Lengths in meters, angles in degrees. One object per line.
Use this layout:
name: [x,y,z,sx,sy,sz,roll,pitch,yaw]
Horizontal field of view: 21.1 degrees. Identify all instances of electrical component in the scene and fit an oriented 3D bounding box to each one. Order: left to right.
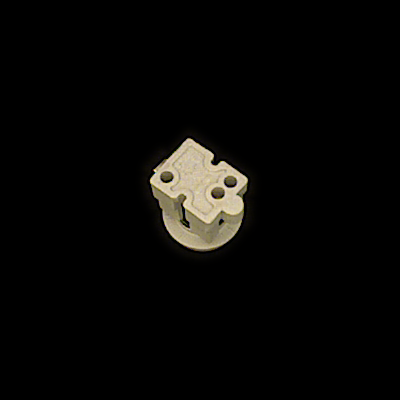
electrical component: [0.000,0.000,0.637,0.066,0.048,0.055,36,-20,17]
